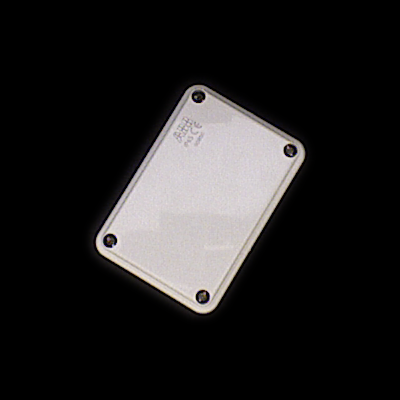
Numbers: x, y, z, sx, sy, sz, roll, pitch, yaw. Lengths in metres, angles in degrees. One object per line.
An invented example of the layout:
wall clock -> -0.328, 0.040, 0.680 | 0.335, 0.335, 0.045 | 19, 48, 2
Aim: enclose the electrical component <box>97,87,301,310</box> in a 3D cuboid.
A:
electrical component -> 0.000, 0.000, 0.628 | 0.078, 0.113, 0.057 | 31, -5, 4
